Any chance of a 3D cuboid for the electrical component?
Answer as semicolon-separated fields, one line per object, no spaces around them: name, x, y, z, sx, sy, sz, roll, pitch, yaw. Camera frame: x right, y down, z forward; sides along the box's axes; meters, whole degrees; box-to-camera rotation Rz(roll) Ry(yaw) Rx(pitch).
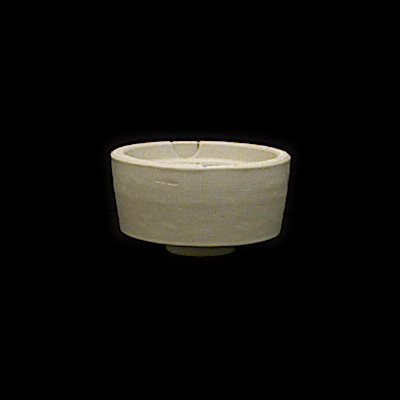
electrical component;0.000;0.000;0.653;0.108;0.061;0.107;1;11;0
